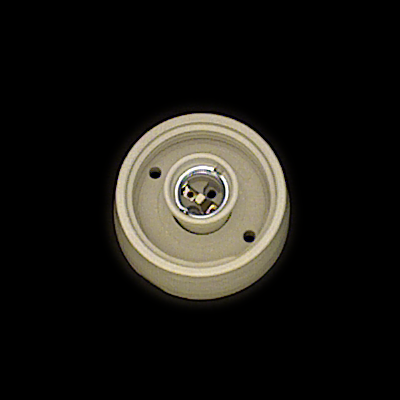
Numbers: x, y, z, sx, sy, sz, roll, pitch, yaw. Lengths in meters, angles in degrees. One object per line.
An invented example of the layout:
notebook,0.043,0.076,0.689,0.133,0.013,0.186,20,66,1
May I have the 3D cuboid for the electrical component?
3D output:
electrical component,0.000,0.000,0.633,0.108,0.108,0.060,0,-16,0
